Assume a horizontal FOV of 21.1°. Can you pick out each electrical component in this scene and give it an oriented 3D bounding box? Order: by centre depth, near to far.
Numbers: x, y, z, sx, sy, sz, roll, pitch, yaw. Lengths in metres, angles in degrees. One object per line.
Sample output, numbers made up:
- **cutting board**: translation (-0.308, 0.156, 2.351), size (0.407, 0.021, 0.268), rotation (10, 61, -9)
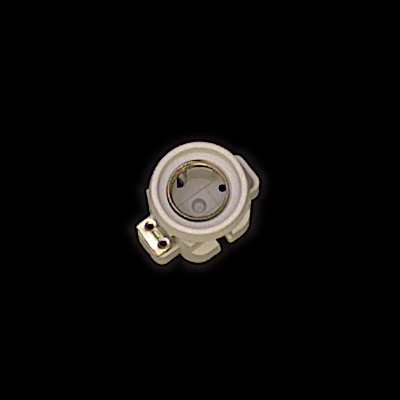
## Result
- **electrical component**: translation (0.000, 0.000, 0.628), size (0.079, 0.058, 0.056), rotation (-36, -13, -10)
